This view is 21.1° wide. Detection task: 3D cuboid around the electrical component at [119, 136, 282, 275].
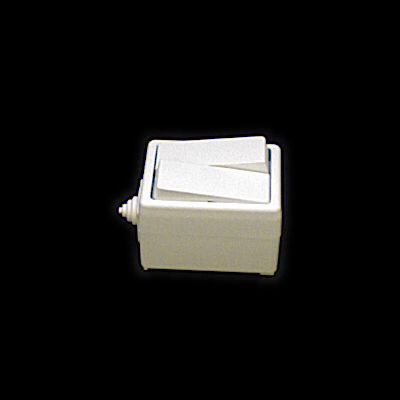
[{"bbox_3d":[0.000,0.000,0.631,0.096,0.061,0.061,3,42,2],"label":"electrical component"}]
